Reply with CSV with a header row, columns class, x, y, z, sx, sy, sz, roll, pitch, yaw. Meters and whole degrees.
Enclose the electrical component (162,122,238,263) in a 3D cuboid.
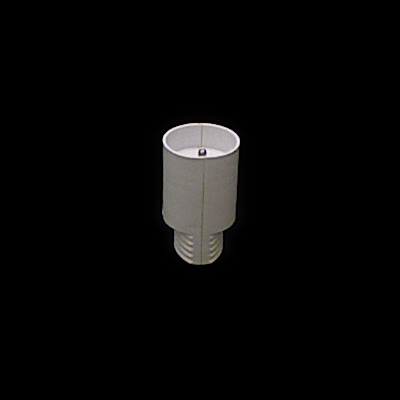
class,x,y,z,sx,sy,sz,roll,pitch,yaw
electrical component,0.000,0.000,0.627,0.043,0.082,0.042,0,32,0
